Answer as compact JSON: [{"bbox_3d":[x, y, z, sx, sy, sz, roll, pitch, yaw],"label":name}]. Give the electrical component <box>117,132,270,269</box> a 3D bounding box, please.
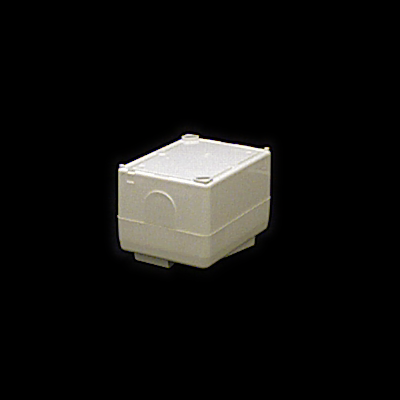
[{"bbox_3d":[0.001,0.000,0.646,0.061,0.062,0.095,12,23,28],"label":"electrical component"}]
